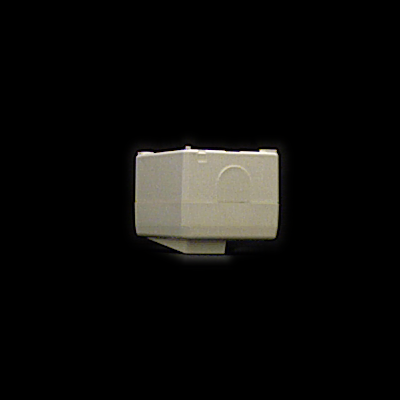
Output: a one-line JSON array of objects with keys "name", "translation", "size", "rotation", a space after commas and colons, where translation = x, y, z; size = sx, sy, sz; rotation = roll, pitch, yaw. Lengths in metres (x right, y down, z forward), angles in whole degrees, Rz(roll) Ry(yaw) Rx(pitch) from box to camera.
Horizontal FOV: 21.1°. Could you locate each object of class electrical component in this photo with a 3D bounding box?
[{"name": "electrical component", "translation": [0.000, 0.000, 0.656], "size": [0.062, 0.061, 0.096], "rotation": [0, 1, -25]}]
